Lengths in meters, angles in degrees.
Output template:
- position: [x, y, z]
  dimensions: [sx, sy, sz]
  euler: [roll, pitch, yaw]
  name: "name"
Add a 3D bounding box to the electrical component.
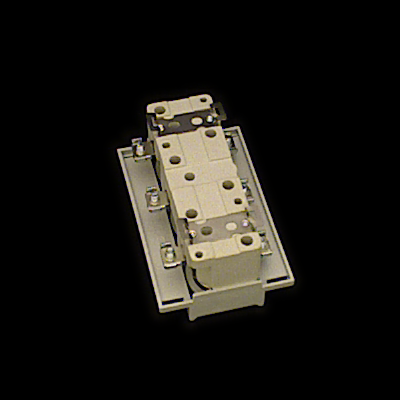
- position: [0.000, 0.000, 0.636]
  dimensions: [0.079, 0.120, 0.063]
  euler: [-11, -36, -9]
  name: "electrical component"
